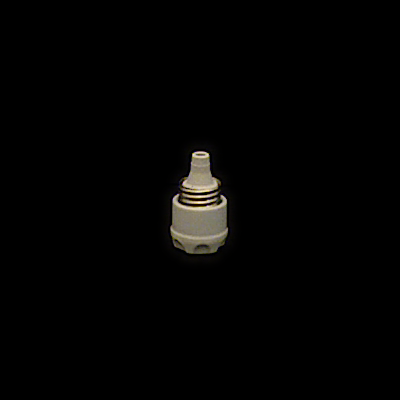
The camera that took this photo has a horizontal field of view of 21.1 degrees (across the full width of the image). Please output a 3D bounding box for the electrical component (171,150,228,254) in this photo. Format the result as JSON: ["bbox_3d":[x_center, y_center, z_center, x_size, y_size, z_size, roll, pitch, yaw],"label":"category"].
[{"bbox_3d":[0.000,0.000,0.653,0.035,0.062,0.034,1,24,0],"label":"electrical component"}]
